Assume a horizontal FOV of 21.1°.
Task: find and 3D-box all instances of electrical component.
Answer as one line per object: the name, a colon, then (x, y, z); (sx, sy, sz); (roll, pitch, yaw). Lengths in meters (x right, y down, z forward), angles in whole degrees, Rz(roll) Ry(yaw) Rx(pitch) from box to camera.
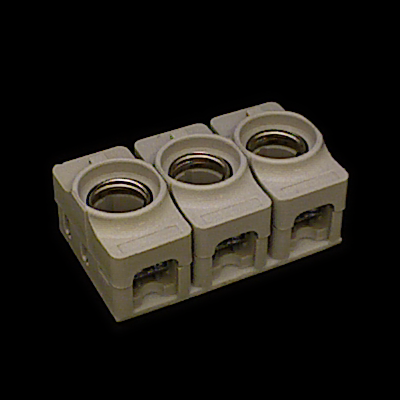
electrical component: (0.000, 0.000, 0.637); (0.150, 0.063, 0.088); (-18, 45, -21)
